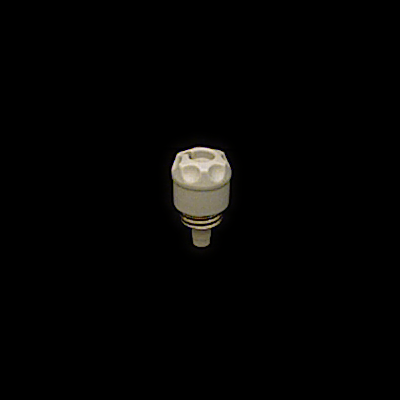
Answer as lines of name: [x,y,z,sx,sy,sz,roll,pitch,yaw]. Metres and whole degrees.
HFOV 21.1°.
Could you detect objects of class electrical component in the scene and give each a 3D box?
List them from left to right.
electrical component: [0.000,0.000,0.643,0.035,0.062,0.034,1,32,0]
